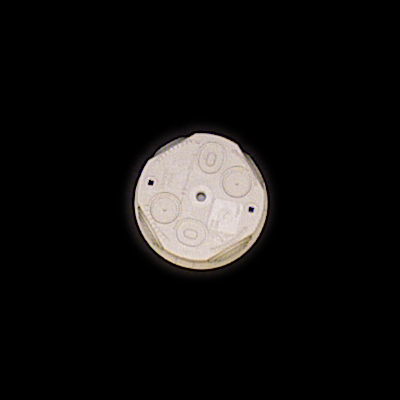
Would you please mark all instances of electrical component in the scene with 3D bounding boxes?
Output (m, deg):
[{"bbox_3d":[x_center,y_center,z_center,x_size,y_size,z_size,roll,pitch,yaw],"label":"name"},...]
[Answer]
[{"bbox_3d":[0.000,0.000,0.633,0.080,0.080,0.050,0,-7,0],"label":"electrical component"}]
